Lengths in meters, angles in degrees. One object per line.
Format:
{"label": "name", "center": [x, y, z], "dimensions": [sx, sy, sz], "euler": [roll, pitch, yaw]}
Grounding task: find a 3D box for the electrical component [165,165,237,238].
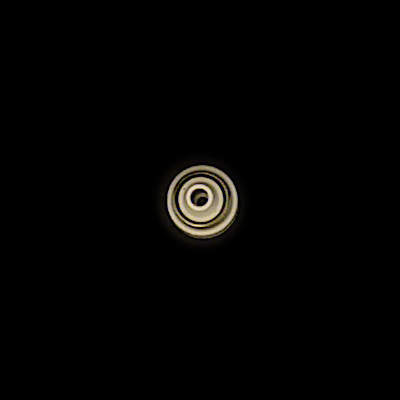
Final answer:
{"label": "electrical component", "center": [0.000, 0.000, 0.635], "dimensions": [0.043, 0.043, 0.062], "euler": [0, -5, 2]}
